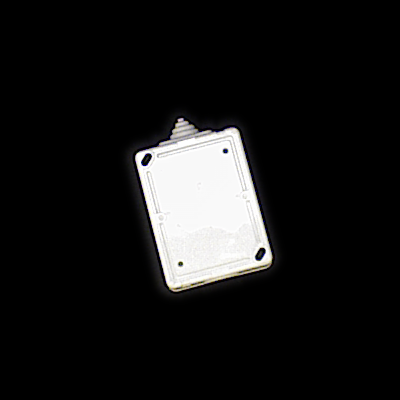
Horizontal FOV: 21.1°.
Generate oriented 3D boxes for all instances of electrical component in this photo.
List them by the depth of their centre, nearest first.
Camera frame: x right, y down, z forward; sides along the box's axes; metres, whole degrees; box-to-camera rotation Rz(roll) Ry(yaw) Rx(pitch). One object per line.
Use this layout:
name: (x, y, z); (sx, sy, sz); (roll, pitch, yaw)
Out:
electrical component: (0.000, 0.000, 0.627); (0.062, 0.096, 0.061); (-15, -7, 0)
